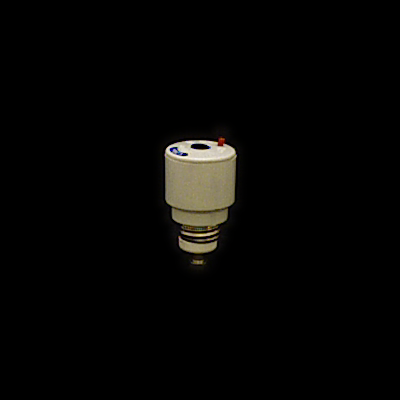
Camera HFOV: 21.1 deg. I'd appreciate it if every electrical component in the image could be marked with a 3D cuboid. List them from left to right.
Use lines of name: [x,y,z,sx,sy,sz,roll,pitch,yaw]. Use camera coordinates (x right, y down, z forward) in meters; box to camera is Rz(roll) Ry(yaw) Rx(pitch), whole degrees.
electrical component: [0.000,0.000,0.636,0.040,0.079,0.039,1,21,0]
